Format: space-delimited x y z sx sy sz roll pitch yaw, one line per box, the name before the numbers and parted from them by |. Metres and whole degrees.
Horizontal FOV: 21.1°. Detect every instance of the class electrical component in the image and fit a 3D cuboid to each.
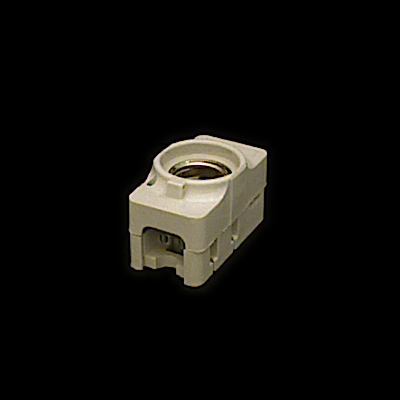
electrical component | 0.000 0.000 0.643 0.050 0.056 0.089 16 35 23
